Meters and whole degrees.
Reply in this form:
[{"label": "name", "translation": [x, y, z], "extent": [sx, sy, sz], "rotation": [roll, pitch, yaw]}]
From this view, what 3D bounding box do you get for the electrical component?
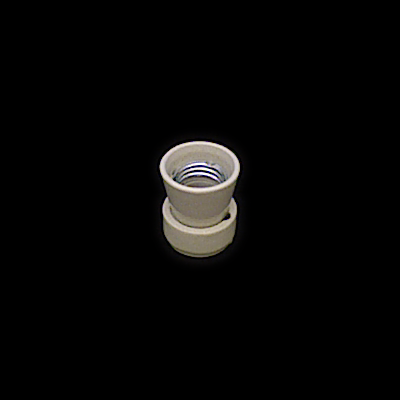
[{"label": "electrical component", "translation": [0.000, 0.000, 0.630], "extent": [0.045, 0.055, 0.044], "rotation": [0, 42, 0]}]
